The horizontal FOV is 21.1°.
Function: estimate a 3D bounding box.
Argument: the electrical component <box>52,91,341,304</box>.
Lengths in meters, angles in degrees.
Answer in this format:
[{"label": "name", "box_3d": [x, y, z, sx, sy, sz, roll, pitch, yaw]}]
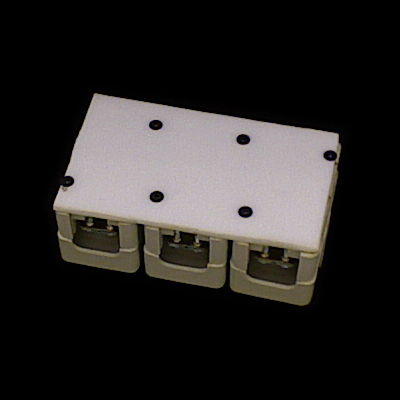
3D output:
[{"label": "electrical component", "box_3d": [0.000, 0.000, 0.634, 0.150, 0.088, 0.063, 10, -37, 7]}]
